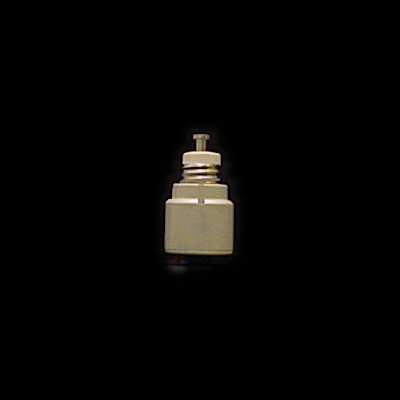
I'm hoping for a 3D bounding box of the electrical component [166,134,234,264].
[{"bbox_3d":[0.000,0.000,0.651,0.040,0.078,0.040,2,2,0],"label":"electrical component"}]
